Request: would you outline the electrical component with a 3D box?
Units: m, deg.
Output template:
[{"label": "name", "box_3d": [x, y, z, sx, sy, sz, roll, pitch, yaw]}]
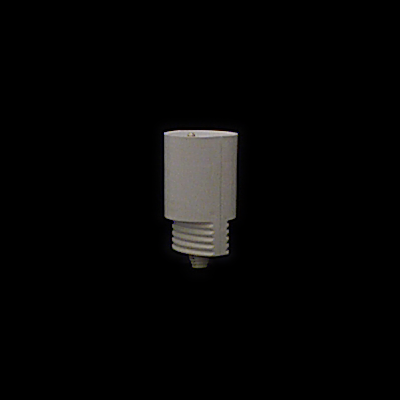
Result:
[{"label": "electrical component", "box_3d": [0.000, 0.000, 0.641, 0.043, 0.081, 0.043, 1, 10, 0]}]
